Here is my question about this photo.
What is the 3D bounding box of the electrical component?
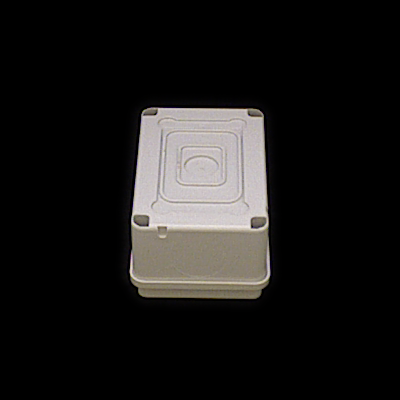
[{"bbox_3d":[0.000,0.000,0.632,0.078,0.057,0.112,1,41,0],"label":"electrical component"}]
